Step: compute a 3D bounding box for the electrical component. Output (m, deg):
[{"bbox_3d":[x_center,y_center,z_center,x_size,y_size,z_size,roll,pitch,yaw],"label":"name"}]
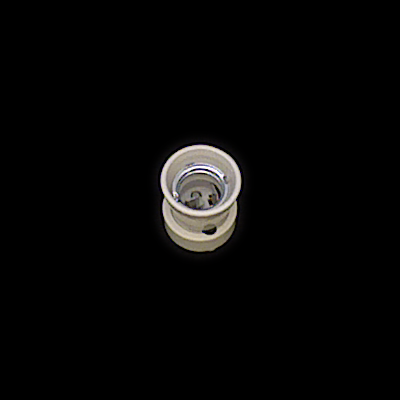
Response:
[{"bbox_3d":[0.000,0.000,0.629,0.045,0.045,0.055,0,-27,-1],"label":"electrical component"}]
